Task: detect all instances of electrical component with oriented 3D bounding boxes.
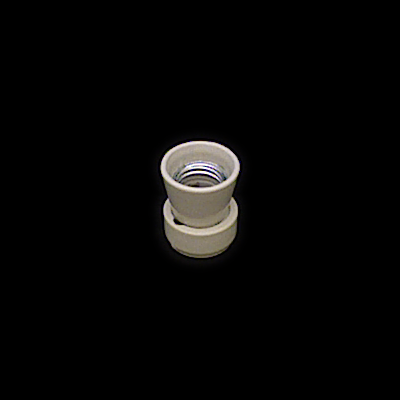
[{"bbox_3d":[0.000,0.000,0.631,0.045,0.055,0.044,0,41,0],"label":"electrical component"}]
